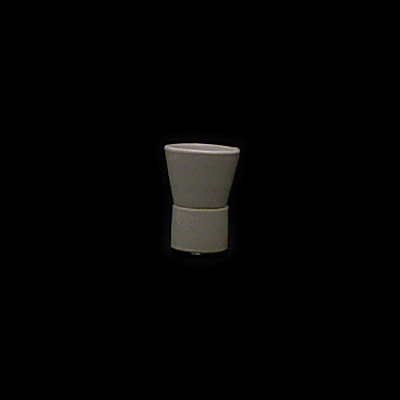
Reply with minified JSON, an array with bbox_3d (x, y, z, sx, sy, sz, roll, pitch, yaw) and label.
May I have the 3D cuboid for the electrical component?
[{"bbox_3d":[0.000,0.000,0.646,0.044,0.066,0.044,2,10,0],"label":"electrical component"}]
